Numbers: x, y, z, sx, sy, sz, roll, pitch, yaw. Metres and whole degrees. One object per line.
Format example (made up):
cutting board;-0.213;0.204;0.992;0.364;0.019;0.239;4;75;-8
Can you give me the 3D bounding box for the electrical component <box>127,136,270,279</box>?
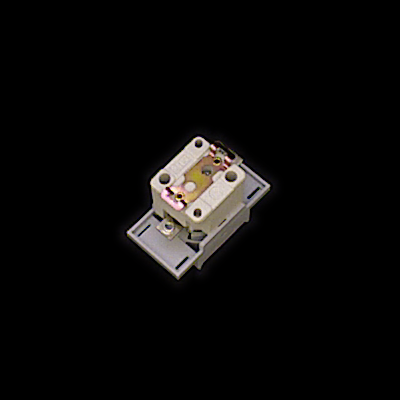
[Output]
electrical component;0.000;0.000;0.625;0.042;0.081;0.063;39;-21;18
